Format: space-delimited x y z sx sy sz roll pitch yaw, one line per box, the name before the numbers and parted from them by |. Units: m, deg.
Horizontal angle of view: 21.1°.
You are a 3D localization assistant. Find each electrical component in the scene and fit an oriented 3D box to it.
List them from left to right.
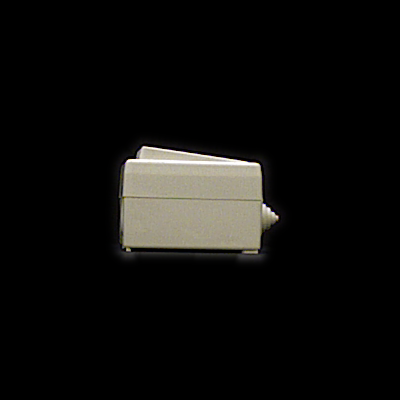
electrical component | 0.000 0.000 0.650 0.096 0.061 0.061 1 0 -6
